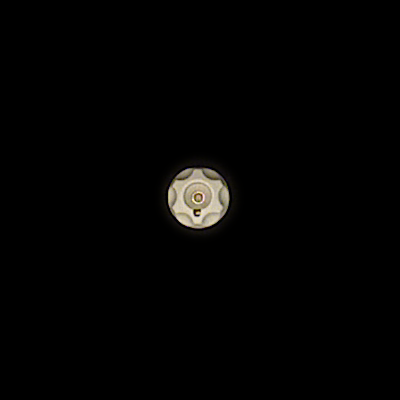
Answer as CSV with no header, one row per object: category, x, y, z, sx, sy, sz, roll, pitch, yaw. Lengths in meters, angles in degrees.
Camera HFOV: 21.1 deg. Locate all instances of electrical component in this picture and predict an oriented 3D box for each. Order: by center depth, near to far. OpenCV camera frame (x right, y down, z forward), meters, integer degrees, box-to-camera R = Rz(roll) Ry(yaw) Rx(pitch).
electrical component,0.000,0.000,0.634,0.035,0.035,0.061,0,-5,1
